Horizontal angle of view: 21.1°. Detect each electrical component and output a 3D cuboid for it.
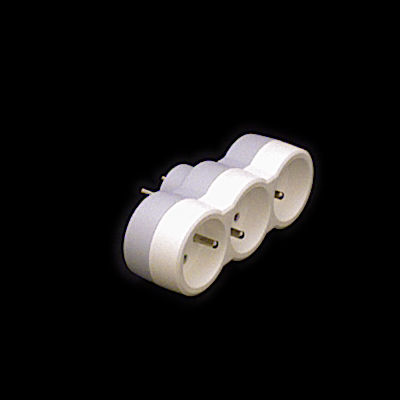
[{"bbox_3d":[0.000,0.000,0.634,0.073,0.053,0.138,20,37,32],"label":"electrical component"}]
